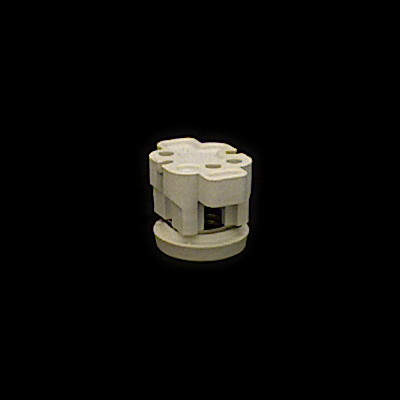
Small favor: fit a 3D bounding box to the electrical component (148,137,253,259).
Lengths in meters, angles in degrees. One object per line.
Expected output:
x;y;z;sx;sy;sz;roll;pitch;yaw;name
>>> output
0.000;0.000;0.647;0.058;0.057;0.077;-11;23;-25;electrical component
